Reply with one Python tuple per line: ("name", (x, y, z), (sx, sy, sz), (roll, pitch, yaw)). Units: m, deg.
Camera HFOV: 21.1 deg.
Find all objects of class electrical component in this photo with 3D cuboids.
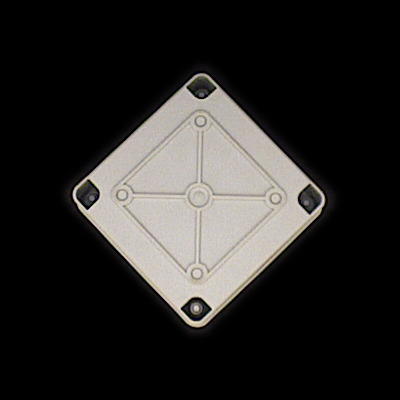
("electrical component", (0.000, 0.000, 0.628), (0.109, 0.109, 0.056), (-44, -5, -4))
